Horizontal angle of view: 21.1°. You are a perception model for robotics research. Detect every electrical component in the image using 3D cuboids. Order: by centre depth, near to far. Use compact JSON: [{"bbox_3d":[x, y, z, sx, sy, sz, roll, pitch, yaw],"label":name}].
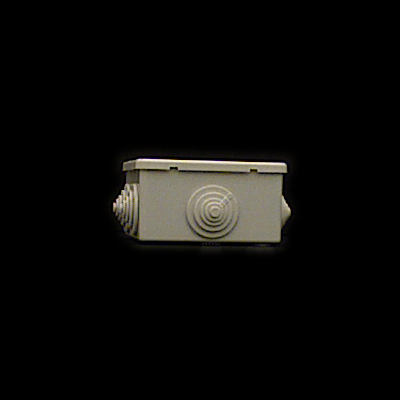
[{"bbox_3d":[0.000,0.000,0.656,0.100,0.048,0.099,1,1,-10],"label":"electrical component"}]
